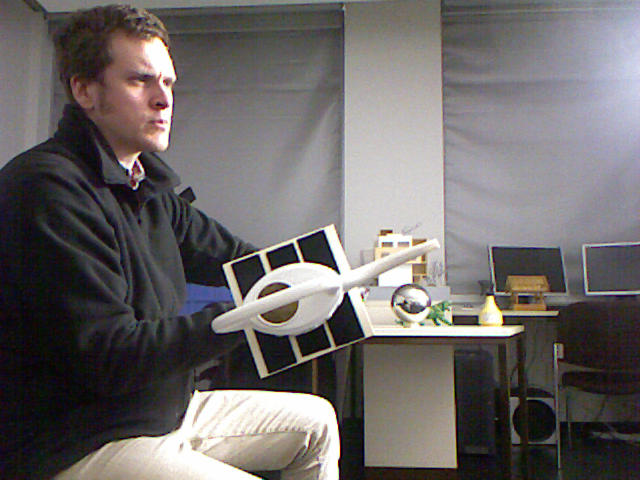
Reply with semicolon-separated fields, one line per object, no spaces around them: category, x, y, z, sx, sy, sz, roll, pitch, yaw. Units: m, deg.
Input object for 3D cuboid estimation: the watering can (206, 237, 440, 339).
watering can;0.005;0.080;0.781;0.349;0.105;0.223;-19;-9;0
